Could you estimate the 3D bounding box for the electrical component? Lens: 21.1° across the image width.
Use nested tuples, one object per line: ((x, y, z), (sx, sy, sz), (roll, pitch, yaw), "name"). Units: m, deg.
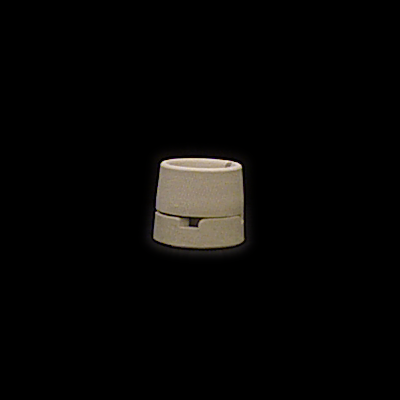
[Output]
((0.000, 0.000, 0.646), (0.055, 0.047, 0.055), (2, 10, 0), "electrical component")
